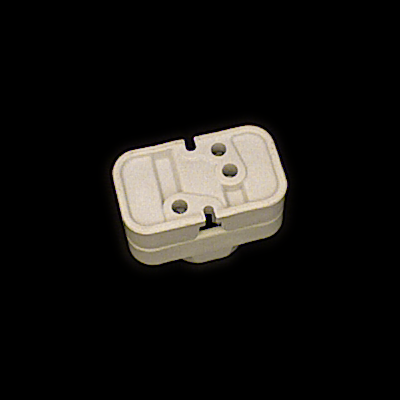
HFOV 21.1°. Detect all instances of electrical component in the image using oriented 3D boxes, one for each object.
[{"bbox_3d":[0.000,0.000,0.636,0.095,0.053,0.059,-13,-26,-6],"label":"electrical component"}]
